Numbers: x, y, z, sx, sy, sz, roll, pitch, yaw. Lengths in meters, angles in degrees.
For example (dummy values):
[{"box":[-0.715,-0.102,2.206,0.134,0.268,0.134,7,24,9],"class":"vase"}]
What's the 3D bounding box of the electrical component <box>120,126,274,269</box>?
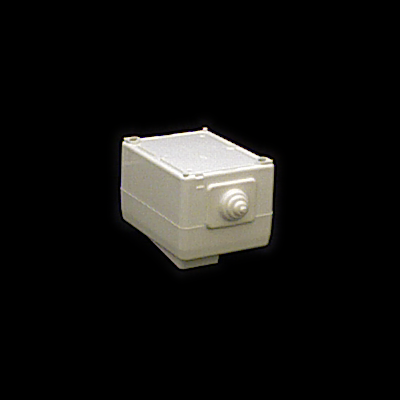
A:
[{"box":[0.000,0.000,0.634,0.061,0.061,0.095,-10,23,-28],"class":"electrical component"}]
